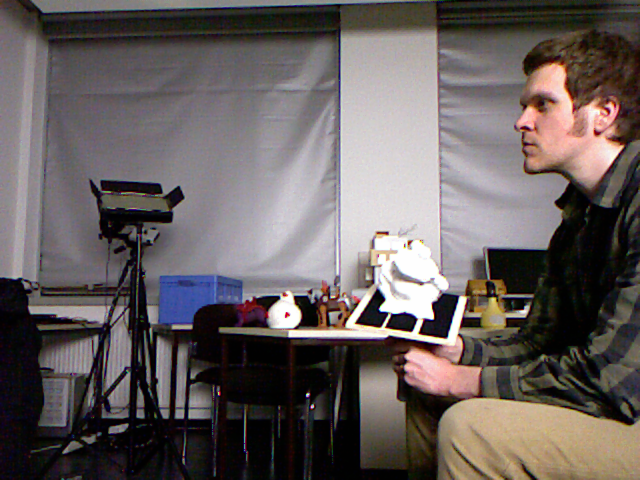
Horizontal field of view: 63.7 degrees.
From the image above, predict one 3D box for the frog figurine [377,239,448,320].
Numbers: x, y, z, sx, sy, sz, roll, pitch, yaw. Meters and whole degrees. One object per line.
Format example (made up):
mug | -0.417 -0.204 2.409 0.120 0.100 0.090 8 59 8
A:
frog figurine | 0.179 0.066 1.011 0.138 0.157 0.124 14 24 32
